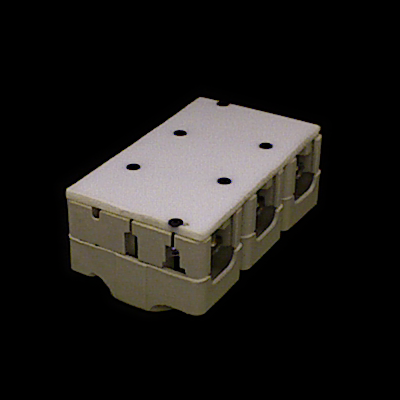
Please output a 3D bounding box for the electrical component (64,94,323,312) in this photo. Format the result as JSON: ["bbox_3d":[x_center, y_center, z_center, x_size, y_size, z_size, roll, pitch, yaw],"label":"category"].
[{"bbox_3d":[0.000,0.000,0.643,0.089,0.063,0.148,18,34,25],"label":"electrical component"}]
